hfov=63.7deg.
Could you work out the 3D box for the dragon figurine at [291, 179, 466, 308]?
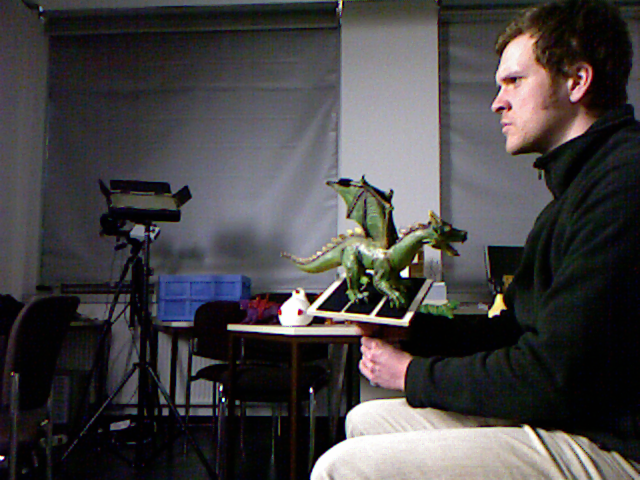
[{"bbox_3d":[0.081,-0.008,1.010,0.412,0.239,0.124,9,27,34],"label":"dragon figurine"}]
